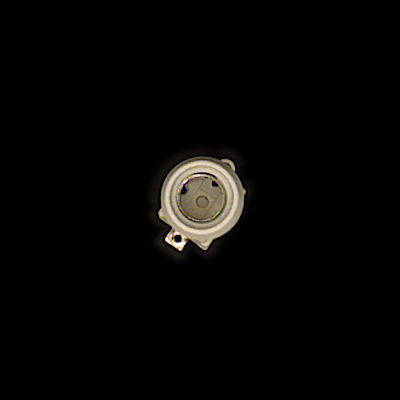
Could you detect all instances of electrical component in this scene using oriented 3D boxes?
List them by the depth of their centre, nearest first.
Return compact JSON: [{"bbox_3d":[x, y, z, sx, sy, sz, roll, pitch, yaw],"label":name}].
[{"bbox_3d":[0.000,0.000,0.638,0.048,0.066,0.055,33,-5,6],"label":"electrical component"}]
